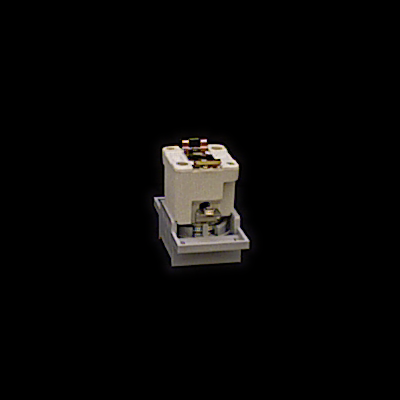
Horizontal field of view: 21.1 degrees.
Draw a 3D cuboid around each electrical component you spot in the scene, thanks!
[{"bbox_3d":[0.000,0.000,0.638,0.042,0.064,0.080,-4,21,-12],"label":"electrical component"}]
